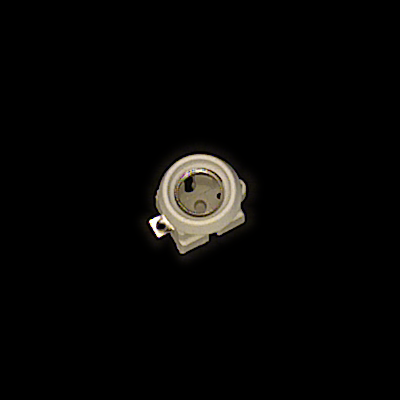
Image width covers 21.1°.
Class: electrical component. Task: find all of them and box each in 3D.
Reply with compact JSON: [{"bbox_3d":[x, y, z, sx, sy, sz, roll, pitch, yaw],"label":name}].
[{"bbox_3d":[0.000,0.000,0.637,0.067,0.048,0.055,-29,-16,-8],"label":"electrical component"}]
